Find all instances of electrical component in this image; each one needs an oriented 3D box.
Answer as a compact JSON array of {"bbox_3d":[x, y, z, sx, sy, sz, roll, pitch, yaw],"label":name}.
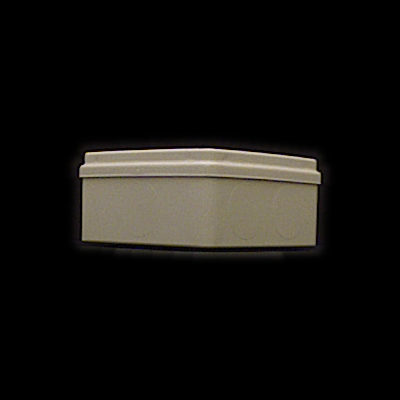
[{"bbox_3d":[0.000,0.000,0.652,0.108,0.056,0.109,1,-1,41],"label":"electrical component"}]
